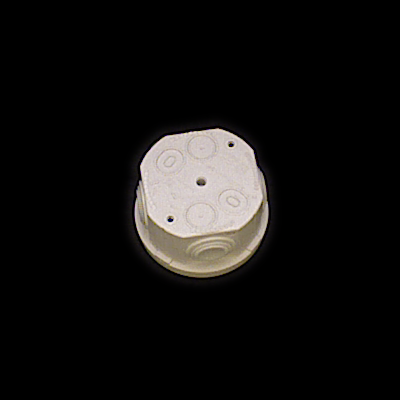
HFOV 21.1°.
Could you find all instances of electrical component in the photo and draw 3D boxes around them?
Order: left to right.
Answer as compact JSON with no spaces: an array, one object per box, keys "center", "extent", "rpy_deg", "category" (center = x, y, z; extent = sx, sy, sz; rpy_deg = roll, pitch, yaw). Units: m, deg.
[{"center":[0.000,0.000,0.631],"extent":[0.080,0.080,0.050],"rpy_deg":[0,-27,0],"category":"electrical component"}]
